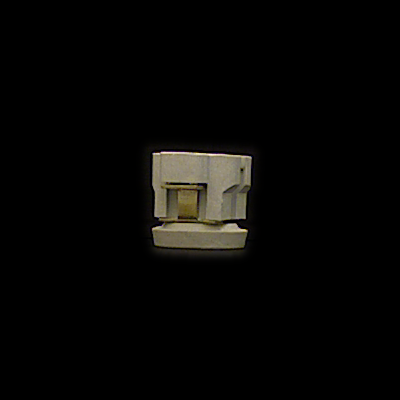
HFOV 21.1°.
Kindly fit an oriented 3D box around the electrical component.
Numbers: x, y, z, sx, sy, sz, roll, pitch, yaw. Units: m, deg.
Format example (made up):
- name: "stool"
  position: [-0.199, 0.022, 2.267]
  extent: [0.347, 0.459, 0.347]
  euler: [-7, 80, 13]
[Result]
- name: "electrical component"
  position: [0.000, 0.000, 0.655]
  extent: [0.057, 0.057, 0.079]
  euler: [3, 3, 20]
